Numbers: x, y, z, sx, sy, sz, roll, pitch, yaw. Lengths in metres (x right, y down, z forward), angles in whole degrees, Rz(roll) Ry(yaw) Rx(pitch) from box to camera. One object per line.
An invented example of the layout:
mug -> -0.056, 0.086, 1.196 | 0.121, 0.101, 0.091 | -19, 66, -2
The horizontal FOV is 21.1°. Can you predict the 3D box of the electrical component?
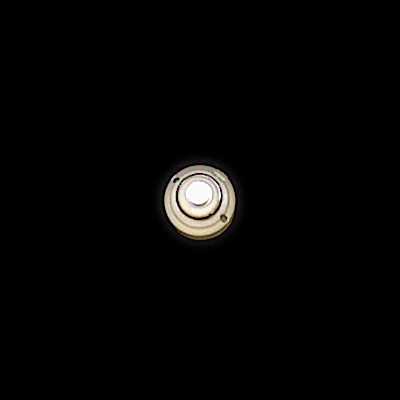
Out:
electrical component -> 0.000, 0.000, 0.618 | 0.040, 0.040, 0.078 | 0, -6, 1
